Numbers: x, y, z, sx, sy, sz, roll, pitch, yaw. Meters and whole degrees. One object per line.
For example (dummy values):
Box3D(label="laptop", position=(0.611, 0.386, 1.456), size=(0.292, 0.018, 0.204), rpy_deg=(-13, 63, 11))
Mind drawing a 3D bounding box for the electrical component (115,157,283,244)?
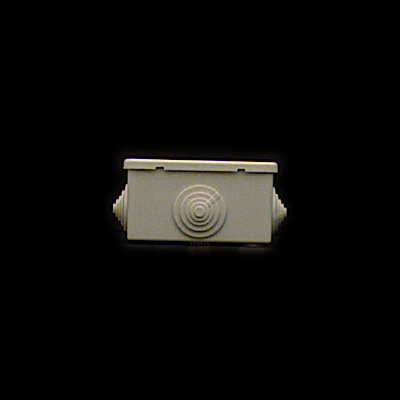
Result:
Box3D(label="electrical component", position=(0.000, 0.000, 0.656), size=(0.100, 0.048, 0.099), rpy_deg=(1, 1, 0))
